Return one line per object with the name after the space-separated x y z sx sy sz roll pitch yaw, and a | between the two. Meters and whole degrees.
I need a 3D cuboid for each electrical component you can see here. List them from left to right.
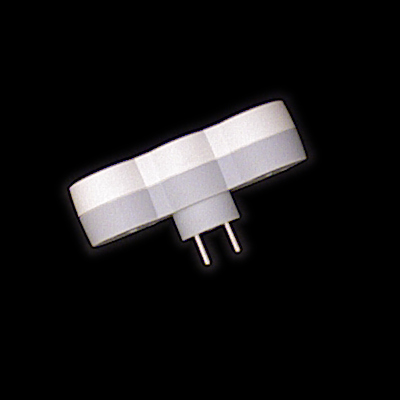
0.000 0.000 0.632 0.138 0.074 0.052 -23 -4 -4 | electrical component
